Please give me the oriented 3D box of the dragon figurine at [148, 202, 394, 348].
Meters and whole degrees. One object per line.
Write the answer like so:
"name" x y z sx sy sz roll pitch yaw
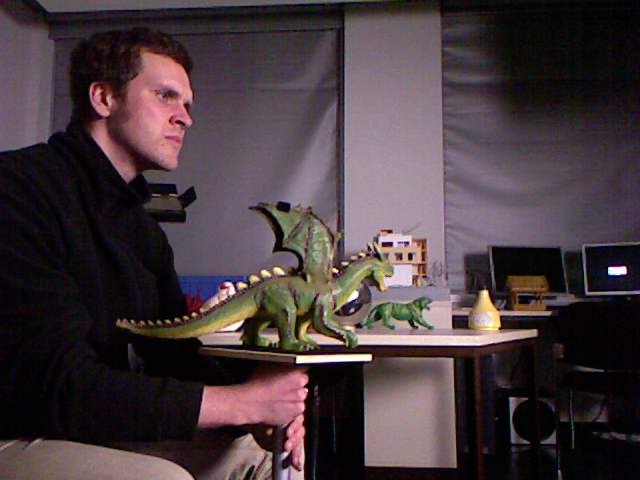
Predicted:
"dragon figurine" -0.058 0.058 0.855 0.410 0.244 0.121 7 -7 -19
